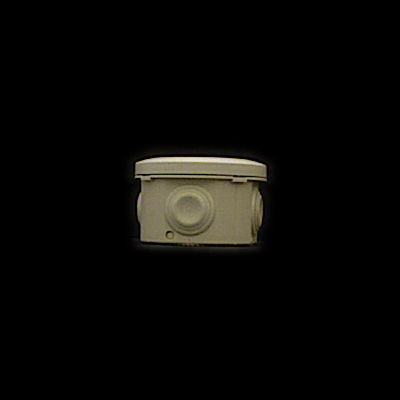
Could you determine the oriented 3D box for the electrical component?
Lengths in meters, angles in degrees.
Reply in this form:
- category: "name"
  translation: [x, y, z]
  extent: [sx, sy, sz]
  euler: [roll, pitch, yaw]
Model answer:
- category: "electrical component"
  translation: [0.000, 0.000, 0.652]
  extent: [0.080, 0.051, 0.080]
  euler: [1, 0, 0]
